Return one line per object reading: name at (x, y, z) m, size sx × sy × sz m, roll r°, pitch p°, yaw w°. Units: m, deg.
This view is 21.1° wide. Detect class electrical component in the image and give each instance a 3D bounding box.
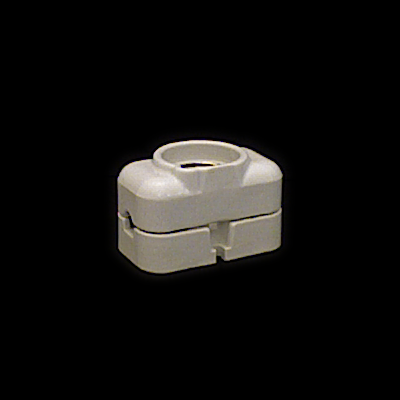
electrical component at (0.000, 0.000, 0.644) m, size 0.095 × 0.060 × 0.053 m, roll -10°, pitch 24°, yaw -26°
